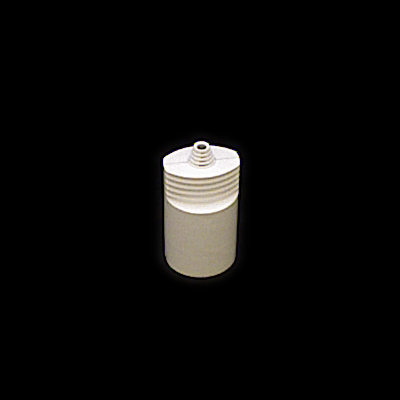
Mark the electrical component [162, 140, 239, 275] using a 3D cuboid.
[{"bbox_3d":[0.000,0.000,0.624,0.043,0.082,0.042,1,42,0],"label":"electrical component"}]
